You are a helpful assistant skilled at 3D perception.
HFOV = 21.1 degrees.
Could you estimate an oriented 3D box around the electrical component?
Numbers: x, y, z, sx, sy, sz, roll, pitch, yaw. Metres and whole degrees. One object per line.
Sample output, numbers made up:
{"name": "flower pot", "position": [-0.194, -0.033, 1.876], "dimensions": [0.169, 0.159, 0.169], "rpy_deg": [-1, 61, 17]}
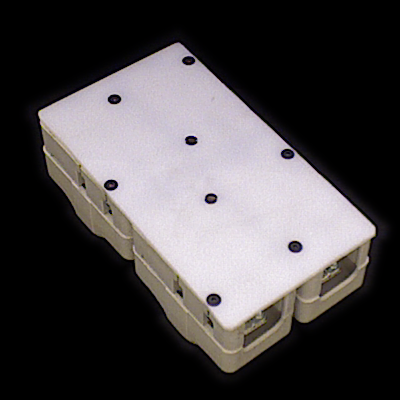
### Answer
{"name": "electrical component", "position": [0.000, 0.000, 0.627], "dimensions": [0.105, 0.185, 0.060], "rpy_deg": [-31, -32, -22]}
